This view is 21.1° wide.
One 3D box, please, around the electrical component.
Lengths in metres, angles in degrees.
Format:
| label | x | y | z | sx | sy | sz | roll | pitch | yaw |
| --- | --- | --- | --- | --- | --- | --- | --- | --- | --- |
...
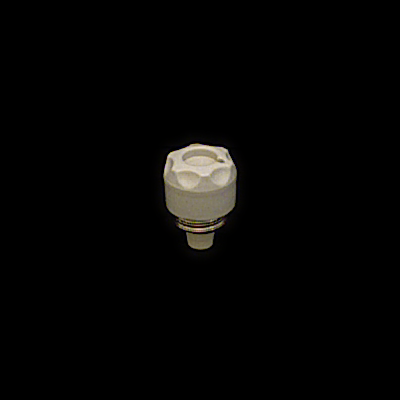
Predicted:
| label | x | y | z | sx | sy | sz | roll | pitch | yaw |
| --- | --- | --- | --- | --- | --- | --- | --- | --- | --- |
| electrical component | 0.000 | 0.000 | 0.641 | 0.043 | 0.063 | 0.043 | 0 | 32 | 1 |
